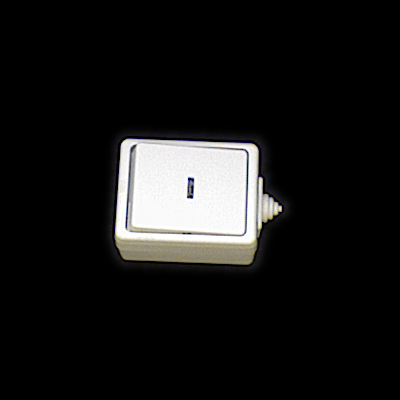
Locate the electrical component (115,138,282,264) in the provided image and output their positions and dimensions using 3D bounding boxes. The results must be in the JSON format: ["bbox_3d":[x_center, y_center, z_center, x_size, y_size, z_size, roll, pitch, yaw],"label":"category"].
[{"bbox_3d":[0.000,0.000,0.626,0.096,0.062,0.060,2,-17,0],"label":"electrical component"}]
